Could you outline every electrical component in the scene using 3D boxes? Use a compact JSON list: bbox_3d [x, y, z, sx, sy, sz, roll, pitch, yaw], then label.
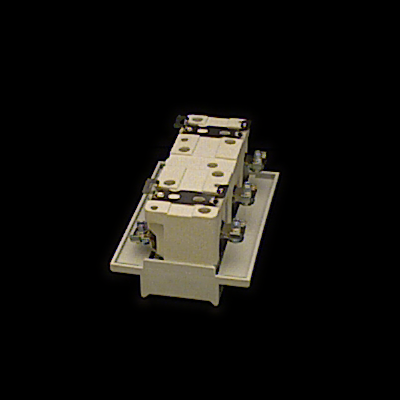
[{"bbox_3d":[0.000,0.000,0.641,0.078,0.064,0.120,6,32,9],"label":"electrical component"}]
